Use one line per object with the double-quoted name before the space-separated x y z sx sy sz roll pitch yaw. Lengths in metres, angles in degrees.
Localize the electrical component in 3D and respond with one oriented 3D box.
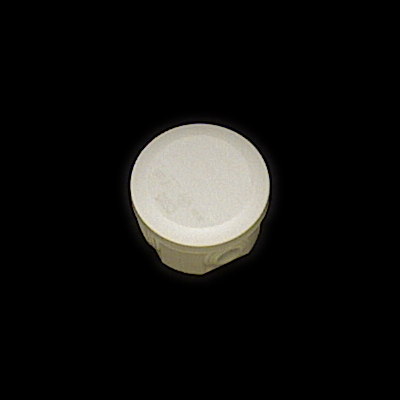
"electrical component" 0.000 0.000 0.631 0.080 0.080 0.050 0 -28 0
